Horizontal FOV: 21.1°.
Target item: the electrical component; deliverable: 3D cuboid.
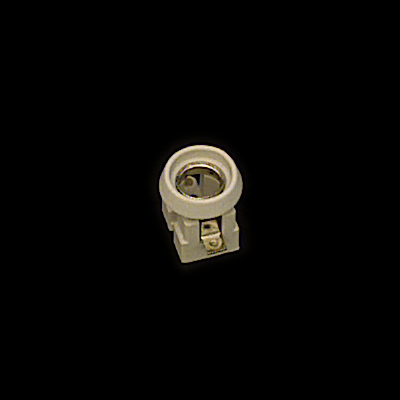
[{"bbox_3d":[0.000,0.000,0.638,0.048,0.066,0.056,-17,-35,-10],"label":"electrical component"}]
